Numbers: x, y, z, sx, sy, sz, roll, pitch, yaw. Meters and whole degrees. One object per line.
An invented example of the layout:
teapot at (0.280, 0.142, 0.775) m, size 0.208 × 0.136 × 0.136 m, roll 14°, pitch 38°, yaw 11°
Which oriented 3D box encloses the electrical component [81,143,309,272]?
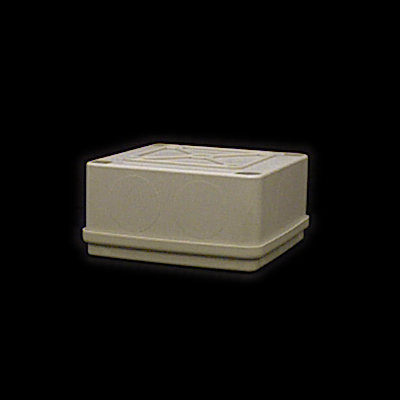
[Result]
electrical component at (0.000, 0.000, 0.643) m, size 0.108 × 0.056 × 0.108 m, roll 5°, pitch 12°, yaw 20°
